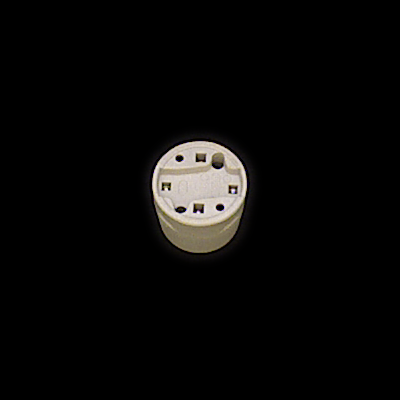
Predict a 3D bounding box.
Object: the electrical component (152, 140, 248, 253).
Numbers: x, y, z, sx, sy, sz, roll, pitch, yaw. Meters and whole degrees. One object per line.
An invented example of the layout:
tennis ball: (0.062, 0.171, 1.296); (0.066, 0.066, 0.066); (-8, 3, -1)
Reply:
electrical component: (0.000, 0.000, 0.635); (0.055, 0.056, 0.047); (0, -27, 0)
